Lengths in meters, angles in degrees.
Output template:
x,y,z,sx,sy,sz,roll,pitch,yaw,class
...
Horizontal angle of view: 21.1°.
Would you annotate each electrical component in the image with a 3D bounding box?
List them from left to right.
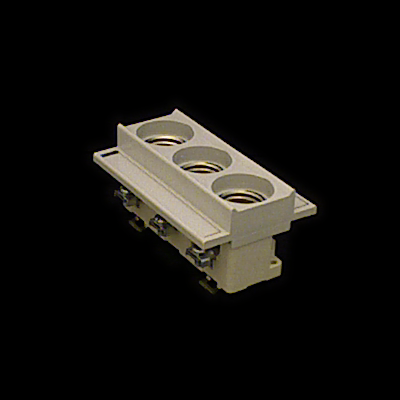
x,y,z,sx,sy,sz,roll,pitch,yaw,class
0.000,0.000,0.648,0.078,0.064,0.119,-18,36,-29,electrical component
